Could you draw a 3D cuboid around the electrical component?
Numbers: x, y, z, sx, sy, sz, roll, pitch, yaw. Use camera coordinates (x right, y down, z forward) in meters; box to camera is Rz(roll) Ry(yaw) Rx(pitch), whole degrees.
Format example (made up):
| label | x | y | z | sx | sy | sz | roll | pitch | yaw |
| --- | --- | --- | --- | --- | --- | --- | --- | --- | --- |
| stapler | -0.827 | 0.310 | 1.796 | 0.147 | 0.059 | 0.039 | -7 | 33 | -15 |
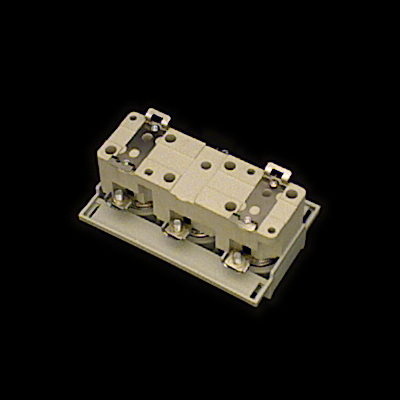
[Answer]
| label | x | y | z | sx | sy | sz | roll | pitch | yaw |
| --- | --- | --- | --- | --- | --- | --- | --- | --- | --- |
| electrical component | 0.000 | 0.000 | 0.633 | 0.121 | 0.079 | 0.063 | 25 | -32 | 18 |
